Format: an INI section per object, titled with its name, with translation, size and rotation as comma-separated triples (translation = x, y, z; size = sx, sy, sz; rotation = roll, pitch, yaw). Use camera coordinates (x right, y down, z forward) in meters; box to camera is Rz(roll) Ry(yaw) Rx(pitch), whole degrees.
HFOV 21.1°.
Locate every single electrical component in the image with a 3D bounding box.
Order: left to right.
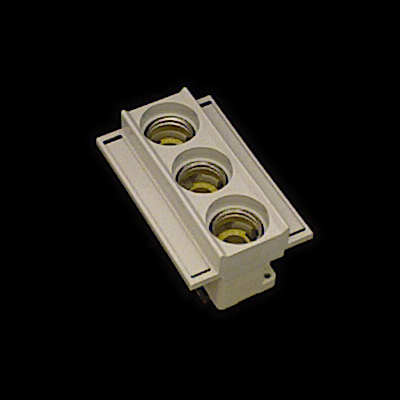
[electrical component]
translation = 0.000, 0.000, 0.640
size = 0.079, 0.120, 0.063
rotation = -23, -34, -18
